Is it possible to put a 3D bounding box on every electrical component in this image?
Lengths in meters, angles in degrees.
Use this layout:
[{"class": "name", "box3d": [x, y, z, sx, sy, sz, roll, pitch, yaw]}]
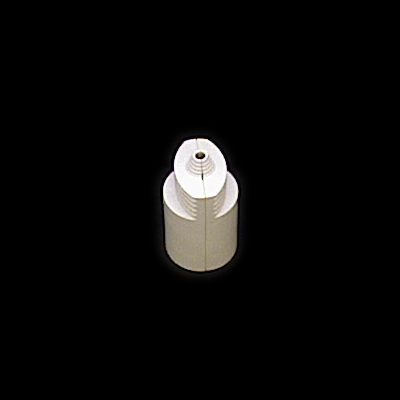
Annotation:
[{"class": "electrical component", "box3d": [0.000, 0.000, 0.620, 0.043, 0.043, 0.081, 0, -38, 0]}]
